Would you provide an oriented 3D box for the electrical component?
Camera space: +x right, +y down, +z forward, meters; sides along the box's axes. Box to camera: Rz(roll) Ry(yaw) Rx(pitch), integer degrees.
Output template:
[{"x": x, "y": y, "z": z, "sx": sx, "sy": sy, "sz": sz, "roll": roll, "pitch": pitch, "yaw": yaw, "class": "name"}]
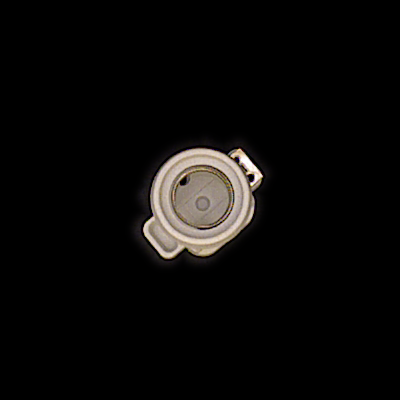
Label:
[{"x": 0.000, "y": 0.000, "z": 0.630, "sx": 0.078, "sy": 0.058, "sz": 0.056, "roll": -40, "pitch": -5, "yaw": -4, "class": "electrical component"}]
